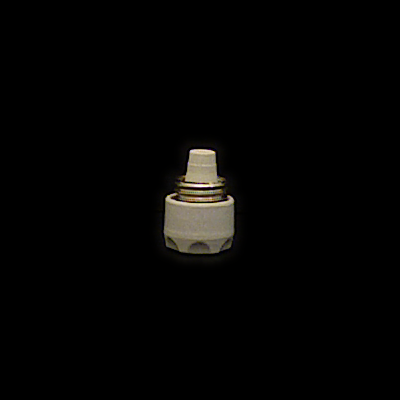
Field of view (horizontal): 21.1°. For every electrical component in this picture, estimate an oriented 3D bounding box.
[{"bbox_3d":[0.000,0.000,0.651,0.043,0.062,0.043,2,12,0],"label":"electrical component"}]
